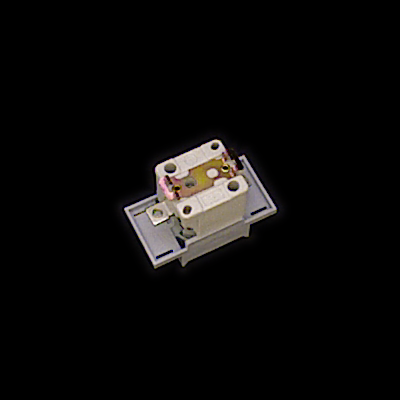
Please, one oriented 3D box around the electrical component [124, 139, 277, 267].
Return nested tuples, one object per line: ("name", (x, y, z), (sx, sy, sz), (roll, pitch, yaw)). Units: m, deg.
("electrical component", (0.000, 0.000, 0.626), (0.081, 0.042, 0.063), (-25, -24, -12))
